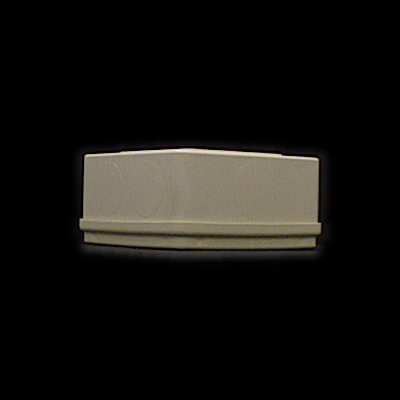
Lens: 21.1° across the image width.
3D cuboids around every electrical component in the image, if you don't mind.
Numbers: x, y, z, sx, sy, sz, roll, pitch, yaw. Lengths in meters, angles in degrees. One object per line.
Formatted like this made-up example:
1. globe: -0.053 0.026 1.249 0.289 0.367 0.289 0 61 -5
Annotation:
1. electrical component: 0.000 0.000 0.647 0.109 0.056 0.108 1 0 -37
